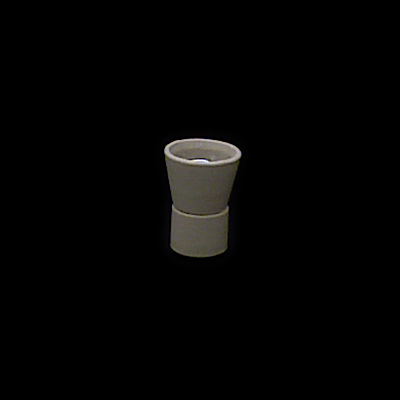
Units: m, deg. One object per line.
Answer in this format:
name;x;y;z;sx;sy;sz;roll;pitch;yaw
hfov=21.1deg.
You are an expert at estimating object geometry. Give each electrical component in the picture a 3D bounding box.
electrical component;0.000;0.000;0.638;0.044;0.066;0.044;2;21;-1
